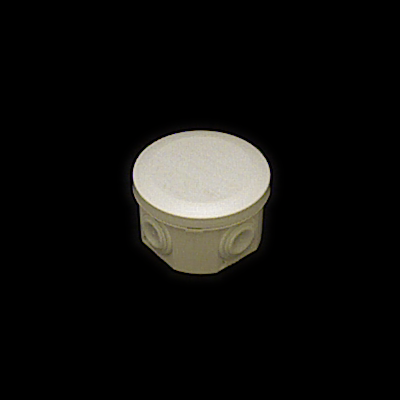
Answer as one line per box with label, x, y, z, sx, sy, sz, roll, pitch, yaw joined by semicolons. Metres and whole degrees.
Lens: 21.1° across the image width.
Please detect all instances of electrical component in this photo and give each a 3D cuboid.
electrical component;0.000;0.000;0.634;0.080;0.051;0.079;1;42;0
